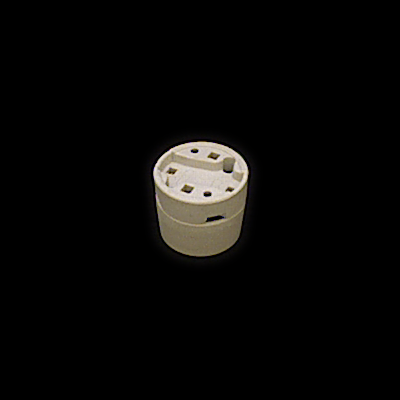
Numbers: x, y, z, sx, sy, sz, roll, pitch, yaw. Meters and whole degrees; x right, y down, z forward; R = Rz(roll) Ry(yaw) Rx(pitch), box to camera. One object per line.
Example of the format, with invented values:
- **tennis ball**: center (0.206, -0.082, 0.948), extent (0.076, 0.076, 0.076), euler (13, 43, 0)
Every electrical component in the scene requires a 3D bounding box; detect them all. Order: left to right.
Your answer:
- **electrical component**: center (0.000, 0.000, 0.636), extent (0.055, 0.047, 0.055), euler (1, 42, 0)
